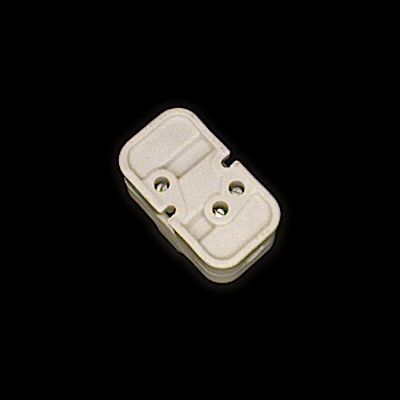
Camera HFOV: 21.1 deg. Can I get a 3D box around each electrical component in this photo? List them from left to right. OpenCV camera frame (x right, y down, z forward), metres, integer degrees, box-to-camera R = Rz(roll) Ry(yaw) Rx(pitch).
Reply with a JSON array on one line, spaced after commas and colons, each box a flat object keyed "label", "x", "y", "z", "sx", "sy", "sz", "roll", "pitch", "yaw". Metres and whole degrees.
[{"label": "electrical component", "x": 0.000, "y": 0.000, "z": 0.636, "sx": 0.054, "sy": 0.095, "sz": 0.059, "roll": -41, "pitch": -12, "yaw": -10}]
